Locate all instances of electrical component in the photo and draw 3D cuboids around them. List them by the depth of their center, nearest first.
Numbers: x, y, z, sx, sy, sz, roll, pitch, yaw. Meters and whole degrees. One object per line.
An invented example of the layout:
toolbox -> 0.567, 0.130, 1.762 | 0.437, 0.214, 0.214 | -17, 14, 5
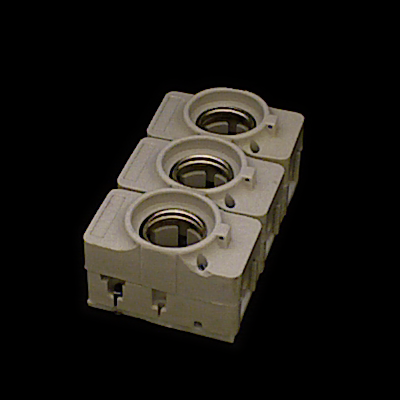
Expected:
electrical component -> 0.000, 0.000, 0.637 | 0.089, 0.063, 0.147 | 12, 43, 12
